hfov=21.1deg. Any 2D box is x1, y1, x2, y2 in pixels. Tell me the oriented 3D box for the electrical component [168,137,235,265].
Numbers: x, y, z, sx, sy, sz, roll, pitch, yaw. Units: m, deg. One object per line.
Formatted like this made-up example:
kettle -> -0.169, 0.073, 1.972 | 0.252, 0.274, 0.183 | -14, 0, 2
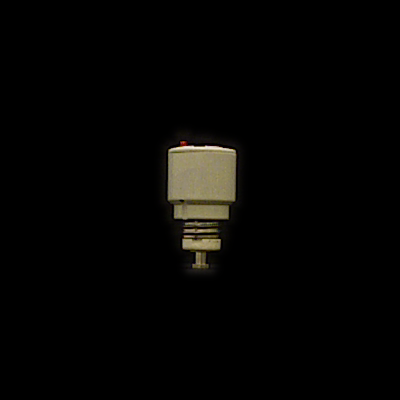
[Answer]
electrical component -> 0.001, 0.000, 0.651 | 0.040, 0.078, 0.040 | 1, 1, 0
